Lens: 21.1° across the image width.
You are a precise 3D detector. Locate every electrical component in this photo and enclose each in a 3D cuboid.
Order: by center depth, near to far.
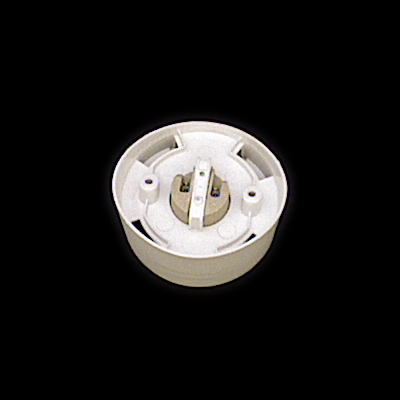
[{"bbox_3d":[0.000,0.000,0.624,0.099,0.099,0.064,0,-27,-1],"label":"electrical component"}]
